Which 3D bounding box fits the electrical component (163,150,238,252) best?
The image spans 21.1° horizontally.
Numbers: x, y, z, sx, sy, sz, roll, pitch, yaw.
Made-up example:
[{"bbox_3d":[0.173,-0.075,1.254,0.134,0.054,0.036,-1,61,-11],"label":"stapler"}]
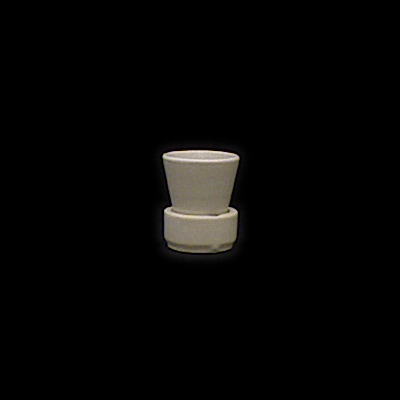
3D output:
[{"bbox_3d":[0.000,0.000,0.642,0.045,0.055,0.044,0,11,0],"label":"electrical component"}]
